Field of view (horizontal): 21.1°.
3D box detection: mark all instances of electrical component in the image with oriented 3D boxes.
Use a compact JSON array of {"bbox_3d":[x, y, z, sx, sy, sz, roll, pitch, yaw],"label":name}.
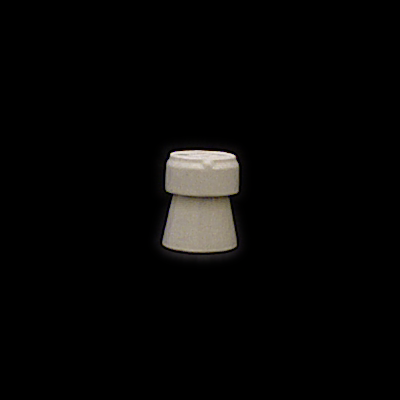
[{"bbox_3d":[0.000,0.000,0.645,0.045,0.055,0.044,2,12,0],"label":"electrical component"}]
